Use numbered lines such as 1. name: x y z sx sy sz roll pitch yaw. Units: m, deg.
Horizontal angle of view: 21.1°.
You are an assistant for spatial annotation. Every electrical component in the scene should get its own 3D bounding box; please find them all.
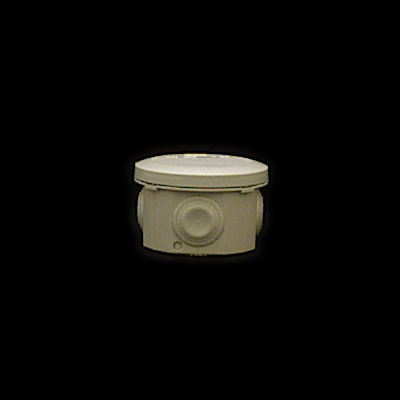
1. electrical component: 0.000 0.000 0.646 0.080 0.051 0.079 1 11 0
